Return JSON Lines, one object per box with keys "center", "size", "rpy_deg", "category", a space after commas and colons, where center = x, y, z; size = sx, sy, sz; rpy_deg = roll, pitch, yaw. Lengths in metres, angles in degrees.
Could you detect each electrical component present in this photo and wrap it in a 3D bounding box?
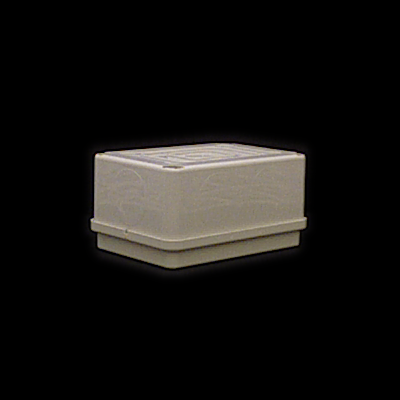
{"center": [0.000, 0.000, 0.644], "size": [0.113, 0.057, 0.077], "rpy_deg": [-9, 14, -41], "category": "electrical component"}
